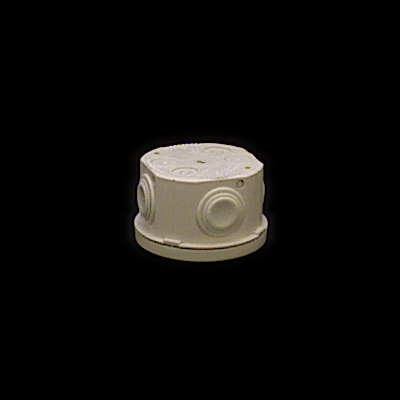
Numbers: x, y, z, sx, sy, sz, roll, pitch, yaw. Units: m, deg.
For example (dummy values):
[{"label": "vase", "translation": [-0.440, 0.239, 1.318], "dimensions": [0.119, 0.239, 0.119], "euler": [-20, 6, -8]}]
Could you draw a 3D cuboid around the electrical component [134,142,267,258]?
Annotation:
[{"label": "electrical component", "translation": [0.000, 0.000, 0.641], "dimensions": [0.080, 0.051, 0.079], "euler": [0, 21, 0]}]
